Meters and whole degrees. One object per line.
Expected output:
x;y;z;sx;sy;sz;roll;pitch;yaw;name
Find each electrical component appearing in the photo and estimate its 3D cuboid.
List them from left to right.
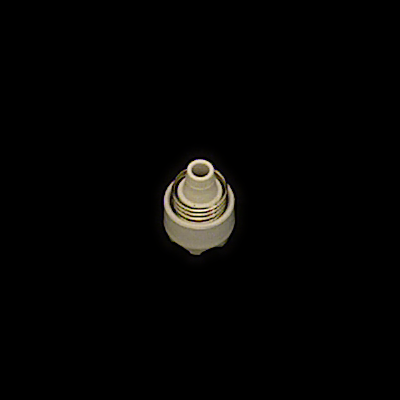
0.000;0.000;0.635;0.043;0.043;0.062;0;-36;-1;electrical component
